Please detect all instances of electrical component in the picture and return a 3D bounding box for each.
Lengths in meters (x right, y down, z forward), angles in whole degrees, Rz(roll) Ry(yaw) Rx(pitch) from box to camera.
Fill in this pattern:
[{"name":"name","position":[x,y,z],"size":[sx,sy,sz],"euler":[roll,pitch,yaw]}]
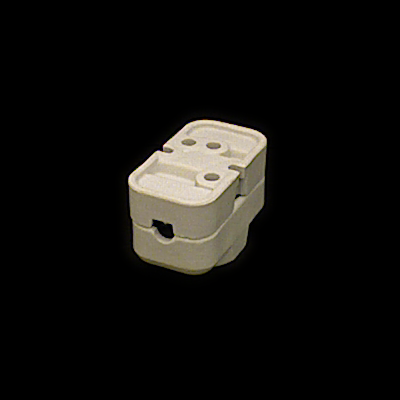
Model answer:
[{"name":"electrical component","position":[0.000,0.000,0.641],"size":[0.053,0.060,0.095],"euler":[15,35,22]}]
